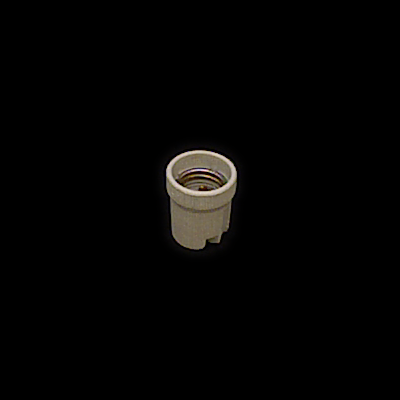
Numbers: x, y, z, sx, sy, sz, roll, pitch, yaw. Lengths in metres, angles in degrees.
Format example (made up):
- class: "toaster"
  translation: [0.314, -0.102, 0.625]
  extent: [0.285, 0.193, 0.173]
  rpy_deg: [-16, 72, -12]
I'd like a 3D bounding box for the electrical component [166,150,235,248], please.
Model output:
- class: "electrical component"
  translation: [0.000, 0.000, 0.632]
  extent: [0.040, 0.047, 0.039]
  rpy_deg: [1, 42, 0]
